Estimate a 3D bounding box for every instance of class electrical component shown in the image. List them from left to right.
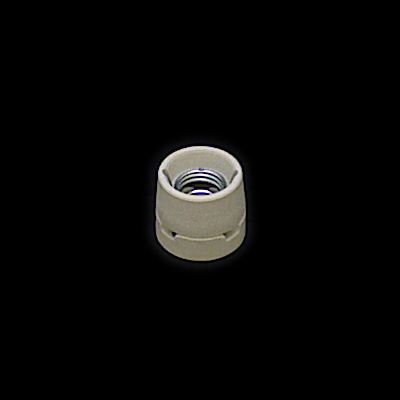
[{"bbox_3d":[0.000,0.000,0.636,0.055,0.047,0.055,0,42,0],"label":"electrical component"}]
